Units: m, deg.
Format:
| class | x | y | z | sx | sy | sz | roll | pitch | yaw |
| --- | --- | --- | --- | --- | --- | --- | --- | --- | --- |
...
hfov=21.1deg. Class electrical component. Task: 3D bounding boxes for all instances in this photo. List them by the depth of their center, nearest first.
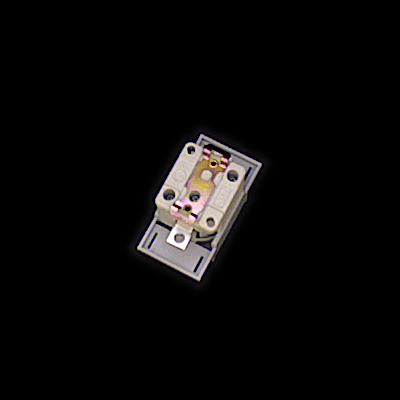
| class | x | y | z | sx | sy | sz | roll | pitch | yaw |
| --- | --- | --- | --- | --- | --- | --- | --- | --- | --- |
| electrical component | 0.000 | 0.000 | 0.625 | 0.042 | 0.081 | 0.063 | 26 | -15 | 8 |
